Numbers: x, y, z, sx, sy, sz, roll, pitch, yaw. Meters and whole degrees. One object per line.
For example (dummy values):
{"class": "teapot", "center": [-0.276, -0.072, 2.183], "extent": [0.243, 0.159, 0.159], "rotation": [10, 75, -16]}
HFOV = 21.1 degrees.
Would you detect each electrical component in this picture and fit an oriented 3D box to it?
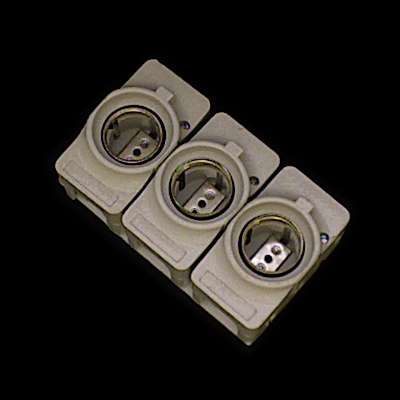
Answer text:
{"class": "electrical component", "center": [0.000, 0.000, 0.632], "extent": [0.150, 0.089, 0.062], "rotation": [39, -14, 10]}
